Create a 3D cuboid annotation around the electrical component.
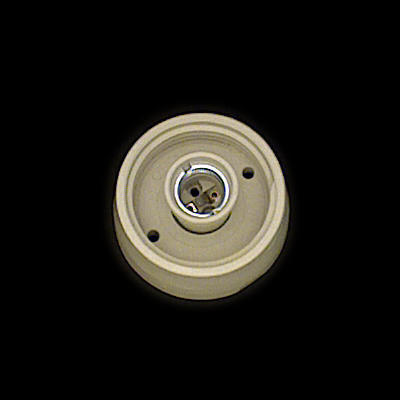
[{"bbox_3d":[0.000,0.000,0.633,0.108,0.108,0.060,0,-16,0],"label":"electrical component"}]
